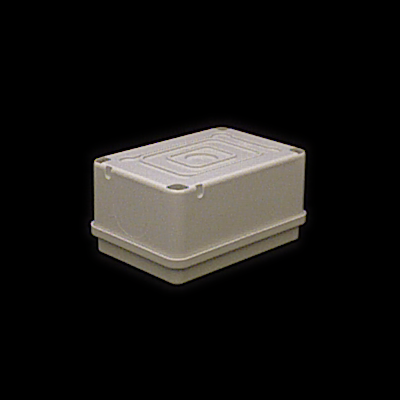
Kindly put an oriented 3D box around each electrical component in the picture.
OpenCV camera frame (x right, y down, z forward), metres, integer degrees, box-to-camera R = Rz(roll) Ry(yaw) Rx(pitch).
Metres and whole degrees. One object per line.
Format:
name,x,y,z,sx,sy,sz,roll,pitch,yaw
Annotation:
electrical component,0.000,0.000,0.640,0.113,0.058,0.077,-18,28,-41
